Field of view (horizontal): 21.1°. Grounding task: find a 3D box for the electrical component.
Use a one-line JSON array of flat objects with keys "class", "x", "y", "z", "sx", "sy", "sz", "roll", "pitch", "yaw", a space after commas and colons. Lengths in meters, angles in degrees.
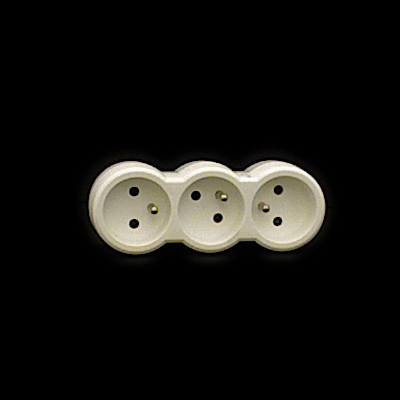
[{"class": "electrical component", "x": 0.000, "y": 0.000, "z": 0.655, "sx": 0.139, "sy": 0.052, "sz": 0.073, "roll": -1, "pitch": 10, "yaw": -10}]
